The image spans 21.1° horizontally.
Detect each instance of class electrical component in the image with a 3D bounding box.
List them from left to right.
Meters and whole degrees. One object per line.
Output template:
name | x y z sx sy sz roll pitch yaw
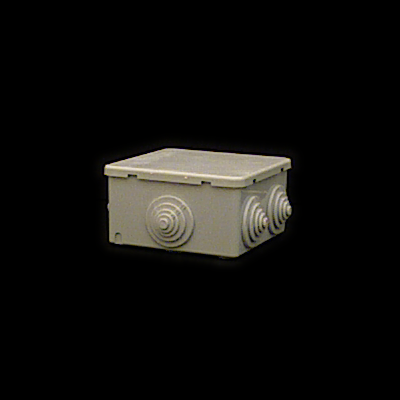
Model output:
electrical component | 0.000 0.000 0.653 0.099 0.049 0.100 6 12 23
